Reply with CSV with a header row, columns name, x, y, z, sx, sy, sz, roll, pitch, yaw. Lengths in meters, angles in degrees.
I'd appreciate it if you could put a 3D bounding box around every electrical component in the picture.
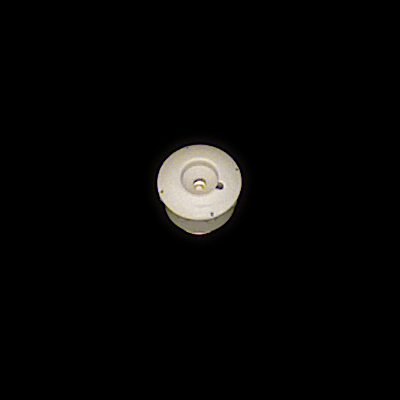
name,x,y,z,sx,sy,sz,roll,pitch,yaw
electrical component,0.000,0.000,0.635,0.048,0.048,0.062,0,-27,0
